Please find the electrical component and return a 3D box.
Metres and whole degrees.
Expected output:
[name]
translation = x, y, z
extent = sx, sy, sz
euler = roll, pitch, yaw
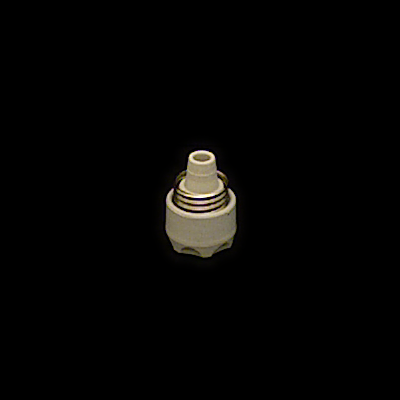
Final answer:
[electrical component]
translation = 0.000, 0.000, 0.640
extent = 0.043, 0.063, 0.043
euler = 1, 34, 0
